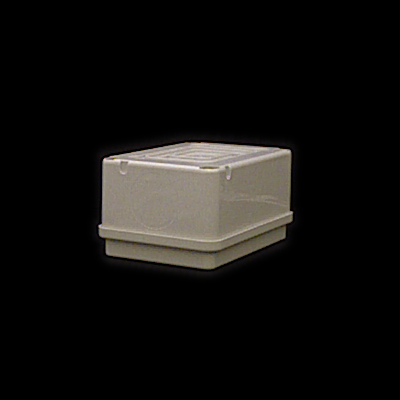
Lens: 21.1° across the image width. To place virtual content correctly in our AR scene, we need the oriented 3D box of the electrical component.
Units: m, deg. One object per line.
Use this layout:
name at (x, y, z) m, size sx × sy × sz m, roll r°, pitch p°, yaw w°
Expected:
electrical component at (0.000, 0.000, 0.645) m, size 0.078 × 0.057 × 0.113 m, roll 7°, pitch 11°, yaw 27°
